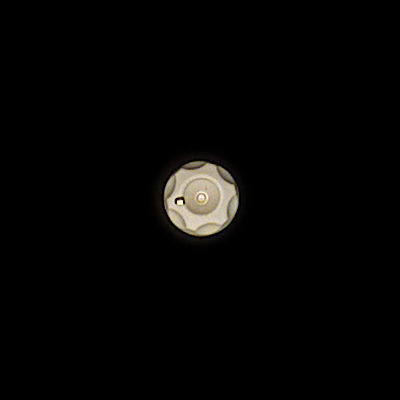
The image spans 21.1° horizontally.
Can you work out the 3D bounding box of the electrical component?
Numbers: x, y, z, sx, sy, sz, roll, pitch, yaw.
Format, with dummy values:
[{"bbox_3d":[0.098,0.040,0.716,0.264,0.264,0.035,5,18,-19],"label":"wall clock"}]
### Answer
[{"bbox_3d":[0.000,0.000,0.635,0.043,0.043,0.062,0,-6,0],"label":"electrical component"}]
